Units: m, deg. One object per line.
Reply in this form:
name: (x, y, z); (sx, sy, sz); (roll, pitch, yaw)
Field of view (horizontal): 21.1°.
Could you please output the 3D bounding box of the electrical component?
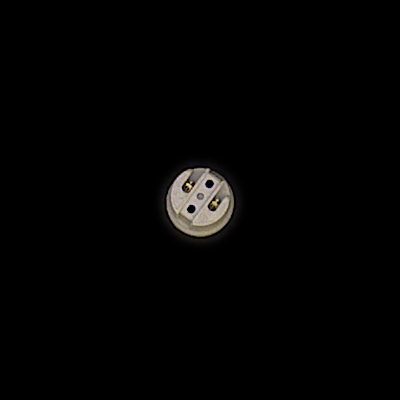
electrical component: (0.000, 0.000, 0.634); (0.040, 0.040, 0.046); (0, -6, 0)
